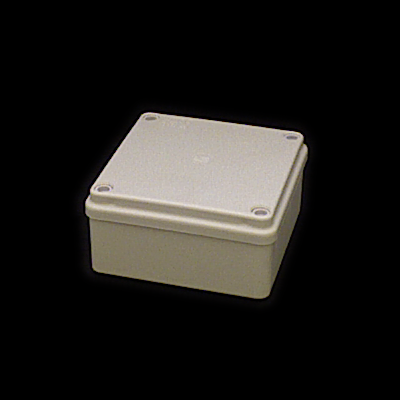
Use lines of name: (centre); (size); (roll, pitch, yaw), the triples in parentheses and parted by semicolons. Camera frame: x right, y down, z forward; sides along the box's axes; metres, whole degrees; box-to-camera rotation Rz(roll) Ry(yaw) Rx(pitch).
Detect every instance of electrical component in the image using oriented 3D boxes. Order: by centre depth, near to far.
electrical component: (0.000, 0.000, 0.634); (0.108, 0.057, 0.107); (9, 33, 12)
